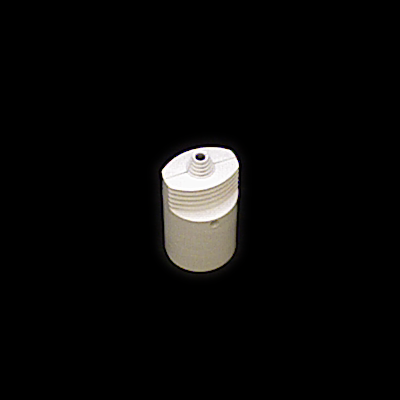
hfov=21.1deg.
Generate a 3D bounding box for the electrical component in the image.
[{"bbox_3d":[0.000,0.000,0.619,0.043,0.043,0.081,0,-38,0],"label":"electrical component"}]
